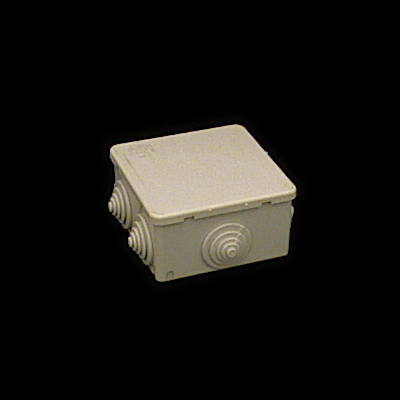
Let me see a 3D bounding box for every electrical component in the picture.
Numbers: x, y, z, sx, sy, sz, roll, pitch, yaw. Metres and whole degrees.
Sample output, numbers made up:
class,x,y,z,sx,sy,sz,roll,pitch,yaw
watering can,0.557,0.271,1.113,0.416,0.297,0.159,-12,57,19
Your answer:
class,x,y,z,sx,sy,sz,roll,pitch,yaw
electrical component,0.000,0.000,0.644,0.100,0.049,0.098,-11,34,-18
